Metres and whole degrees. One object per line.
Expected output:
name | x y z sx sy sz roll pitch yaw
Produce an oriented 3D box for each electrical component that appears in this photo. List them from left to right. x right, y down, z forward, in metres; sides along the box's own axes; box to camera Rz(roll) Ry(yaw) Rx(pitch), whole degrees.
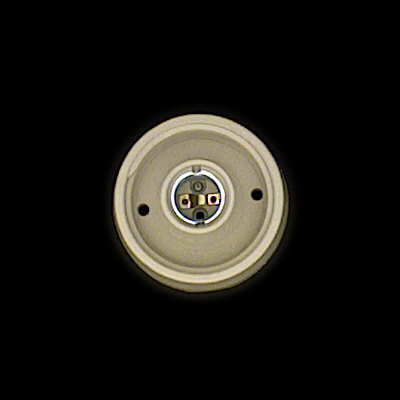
electrical component | 0.000 0.000 0.634 0.108 0.108 0.060 0 -6 0
